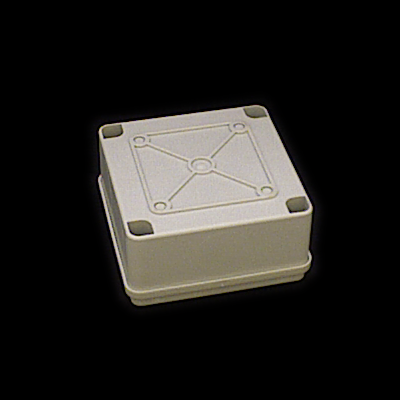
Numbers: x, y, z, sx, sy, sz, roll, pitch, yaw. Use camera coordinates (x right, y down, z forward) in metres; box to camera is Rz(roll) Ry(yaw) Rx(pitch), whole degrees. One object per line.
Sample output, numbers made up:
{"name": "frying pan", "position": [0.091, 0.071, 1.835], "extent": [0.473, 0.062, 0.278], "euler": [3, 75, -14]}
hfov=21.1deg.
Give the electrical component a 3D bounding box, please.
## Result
{"name": "electrical component", "position": [0.000, 0.000, 0.634], "extent": [0.109, 0.057, 0.107], "euler": [-8, 42, -11]}
